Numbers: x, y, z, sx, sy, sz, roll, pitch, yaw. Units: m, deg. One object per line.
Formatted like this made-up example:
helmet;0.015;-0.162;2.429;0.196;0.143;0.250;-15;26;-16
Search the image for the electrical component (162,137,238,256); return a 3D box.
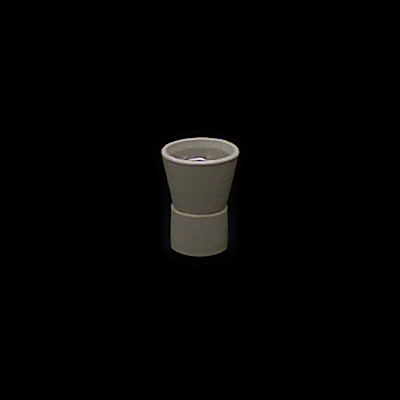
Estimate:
electrical component;0.000;0.000;0.636;0.044;0.066;0.044;1;22;0
